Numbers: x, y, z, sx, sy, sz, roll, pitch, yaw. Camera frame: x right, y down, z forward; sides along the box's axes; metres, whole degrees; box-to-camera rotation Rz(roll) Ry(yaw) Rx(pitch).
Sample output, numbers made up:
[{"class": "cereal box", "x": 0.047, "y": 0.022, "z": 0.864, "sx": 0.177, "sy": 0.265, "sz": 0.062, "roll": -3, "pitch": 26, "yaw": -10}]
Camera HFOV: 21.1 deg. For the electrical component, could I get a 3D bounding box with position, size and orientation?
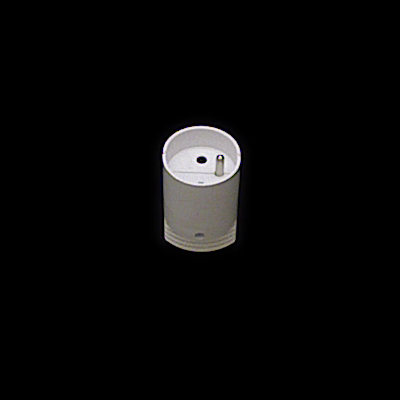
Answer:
[{"class": "electrical component", "x": 0.000, "y": 0.000, "z": 0.620, "sx": 0.043, "sy": 0.043, "sz": 0.081, "roll": 0, "pitch": -37, "yaw": -1}]
